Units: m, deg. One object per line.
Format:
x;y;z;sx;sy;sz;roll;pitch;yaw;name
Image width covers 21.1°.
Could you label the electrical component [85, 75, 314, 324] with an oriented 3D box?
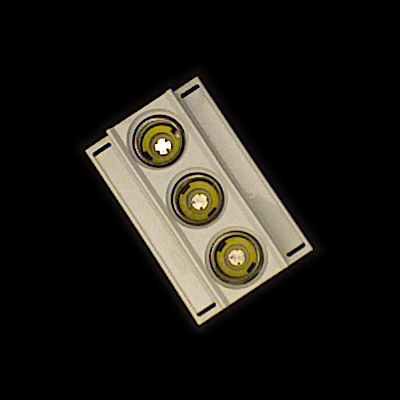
0.000;0.000;0.637;0.079;0.121;0.063;-33;-5;-1;electrical component
